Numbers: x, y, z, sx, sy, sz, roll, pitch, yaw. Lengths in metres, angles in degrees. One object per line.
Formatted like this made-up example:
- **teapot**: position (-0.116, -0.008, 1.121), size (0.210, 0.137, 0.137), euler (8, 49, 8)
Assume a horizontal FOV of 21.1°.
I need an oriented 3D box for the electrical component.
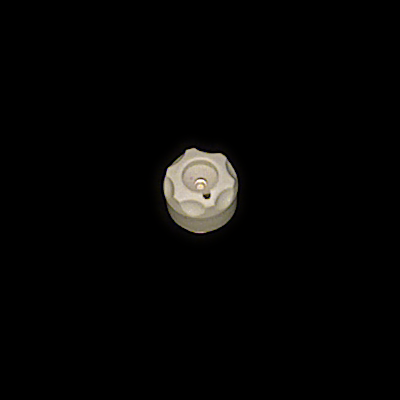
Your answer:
- **electrical component**: position (0.000, 0.000, 0.634), size (0.043, 0.043, 0.062), euler (0, -27, 1)
